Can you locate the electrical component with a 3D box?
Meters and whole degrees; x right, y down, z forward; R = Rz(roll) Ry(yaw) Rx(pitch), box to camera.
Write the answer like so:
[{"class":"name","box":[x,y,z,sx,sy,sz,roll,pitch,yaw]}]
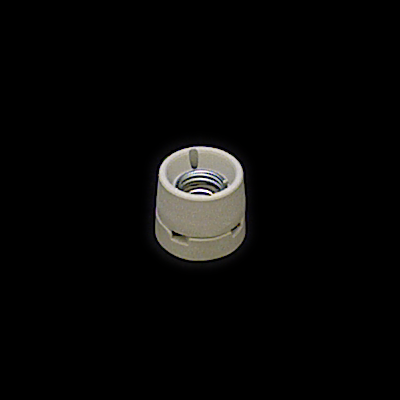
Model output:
[{"class":"electrical component","box":[0.000,0.000,0.637,0.055,0.047,0.055,1,41,0]}]
